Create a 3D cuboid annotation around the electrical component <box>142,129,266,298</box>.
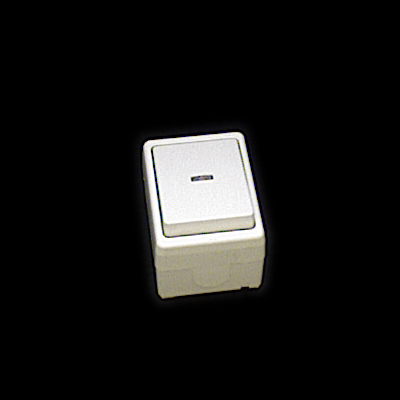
[{"bbox_3d":[0.000,0.000,0.629,0.062,0.096,0.061,-6,-37,-5],"label":"electrical component"}]
